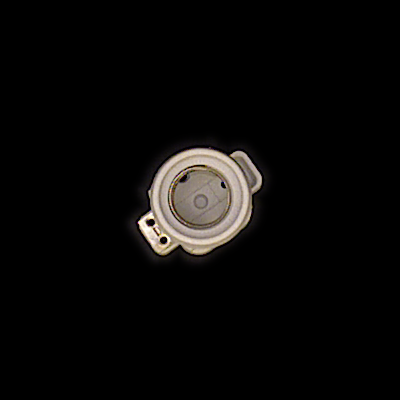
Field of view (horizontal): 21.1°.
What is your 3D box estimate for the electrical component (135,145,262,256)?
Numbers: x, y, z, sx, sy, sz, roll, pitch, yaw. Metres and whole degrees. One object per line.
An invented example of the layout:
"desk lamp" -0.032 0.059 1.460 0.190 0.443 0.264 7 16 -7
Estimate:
"electrical component" 0.000 0.000 0.629 0.078 0.058 0.056 -35 -5 -3
